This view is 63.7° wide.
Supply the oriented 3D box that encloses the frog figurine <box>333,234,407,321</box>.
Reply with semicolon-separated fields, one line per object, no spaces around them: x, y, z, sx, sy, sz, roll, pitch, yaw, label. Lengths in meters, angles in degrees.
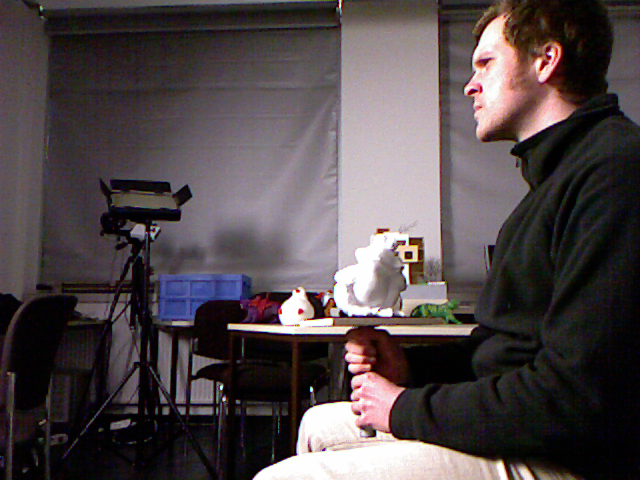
0.092;0.070;0.953;0.137;0.160;0.122;1;-7;-1;frog figurine
